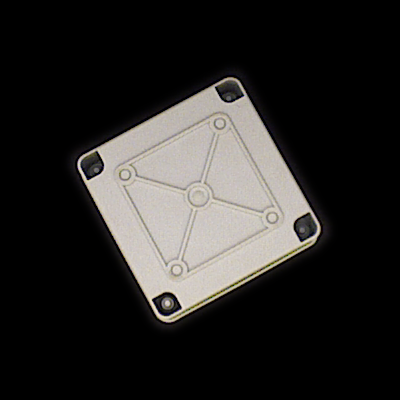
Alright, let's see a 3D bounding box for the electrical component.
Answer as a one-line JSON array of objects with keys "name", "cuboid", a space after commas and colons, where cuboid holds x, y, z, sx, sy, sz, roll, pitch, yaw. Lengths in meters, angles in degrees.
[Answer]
[{"name": "electrical component", "cuboid": [0.000, 0.000, 0.628, 0.109, 0.109, 0.056, -29, -6, -3]}]
